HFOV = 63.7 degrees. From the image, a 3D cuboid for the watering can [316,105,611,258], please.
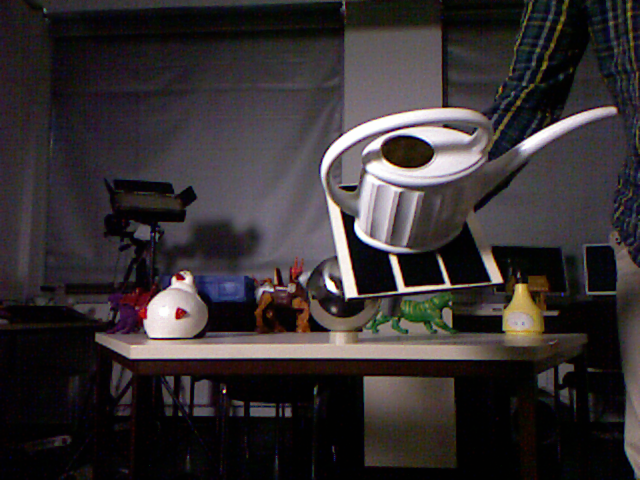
[{"bbox_3d":[0.167,-0.076,0.649,0.349,0.107,0.219,-5,-38,-6],"label":"watering can"}]
